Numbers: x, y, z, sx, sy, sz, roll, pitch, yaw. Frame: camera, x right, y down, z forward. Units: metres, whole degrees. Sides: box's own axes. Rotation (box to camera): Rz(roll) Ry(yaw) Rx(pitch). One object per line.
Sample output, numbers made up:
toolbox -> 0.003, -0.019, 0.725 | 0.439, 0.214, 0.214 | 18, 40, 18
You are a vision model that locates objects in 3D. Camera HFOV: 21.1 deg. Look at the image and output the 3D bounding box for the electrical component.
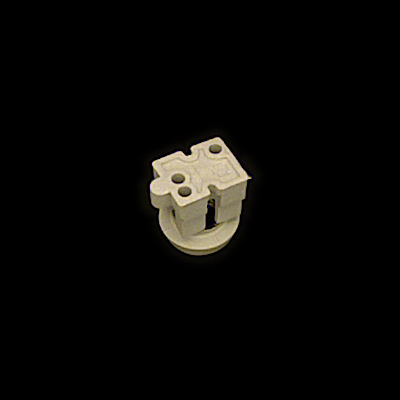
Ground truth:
electrical component -> 0.000, 0.000, 0.637 | 0.067, 0.048, 0.055 | -22, -35, -17
